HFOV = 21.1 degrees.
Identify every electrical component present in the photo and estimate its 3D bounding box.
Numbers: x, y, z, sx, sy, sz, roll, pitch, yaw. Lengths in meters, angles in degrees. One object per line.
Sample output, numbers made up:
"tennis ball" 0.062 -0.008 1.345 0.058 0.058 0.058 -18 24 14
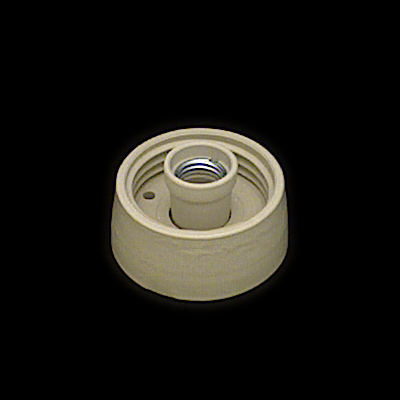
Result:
"electrical component" 0.000 0.000 0.636 0.108 0.061 0.107 1 42 0
